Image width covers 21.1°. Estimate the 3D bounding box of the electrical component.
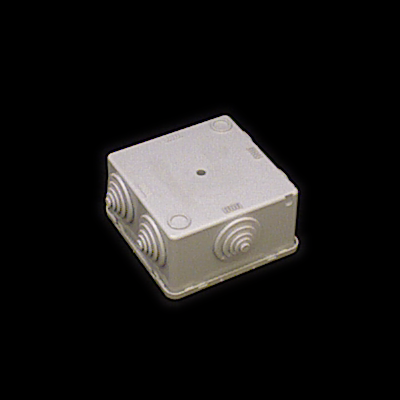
[{"bbox_3d":[0.000,0.000,0.633,0.100,0.049,0.099,-20,46,-21],"label":"electrical component"}]
